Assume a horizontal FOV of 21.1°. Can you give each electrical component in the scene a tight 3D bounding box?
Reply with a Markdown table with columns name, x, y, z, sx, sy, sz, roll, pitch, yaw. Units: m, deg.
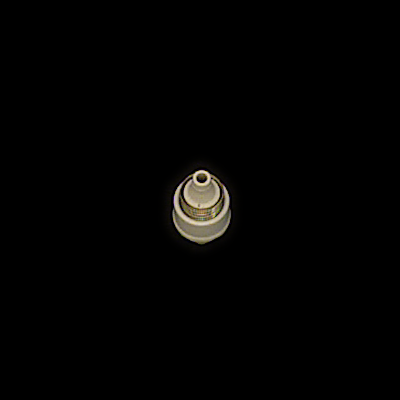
| name | x | y | z | sx | sy | sz | roll | pitch | yaw |
| --- | --- | --- | --- | --- | --- | --- | --- | --- | --- |
| electrical component | 0.000 | 0.000 | 0.638 | 0.035 | 0.035 | 0.061 | 0 | -25 | 0 |
